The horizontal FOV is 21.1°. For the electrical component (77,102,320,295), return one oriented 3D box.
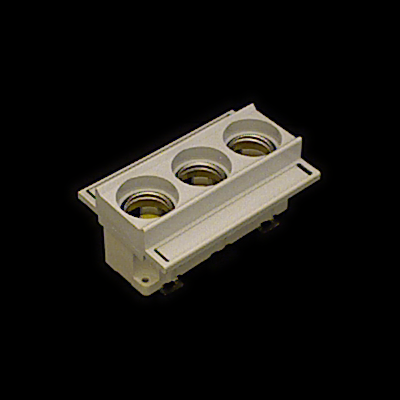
[{"bbox_3d":[0.000,0.000,0.642,0.121,0.064,0.078,-30,52,-29],"label":"electrical component"}]
